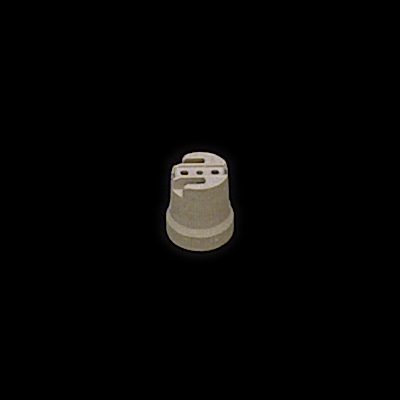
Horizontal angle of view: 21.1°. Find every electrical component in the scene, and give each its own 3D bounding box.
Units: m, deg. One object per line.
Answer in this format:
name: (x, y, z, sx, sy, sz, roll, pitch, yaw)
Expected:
electrical component: (0.000, 0.000, 0.636, 0.040, 0.046, 0.040, 1, 42, 0)
